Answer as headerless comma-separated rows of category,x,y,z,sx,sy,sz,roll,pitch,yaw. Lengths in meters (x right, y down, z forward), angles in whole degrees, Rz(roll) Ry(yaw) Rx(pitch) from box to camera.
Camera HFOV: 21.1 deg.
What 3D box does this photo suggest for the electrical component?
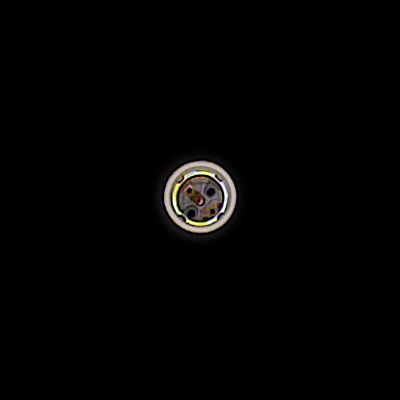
electrical component,0.000,0.000,0.627,0.040,0.040,0.046,0,-6,0
